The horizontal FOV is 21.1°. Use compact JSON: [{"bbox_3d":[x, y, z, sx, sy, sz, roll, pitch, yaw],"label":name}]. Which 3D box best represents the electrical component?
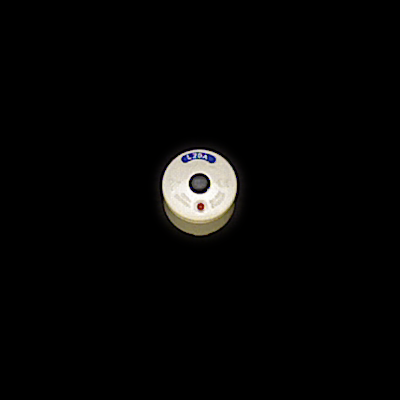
[{"bbox_3d":[0.000,0.000,0.616,0.040,0.040,0.078,0,-16,0],"label":"electrical component"}]
